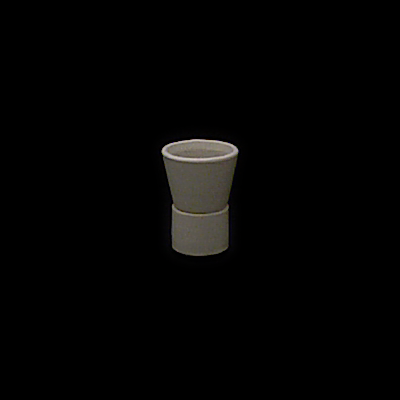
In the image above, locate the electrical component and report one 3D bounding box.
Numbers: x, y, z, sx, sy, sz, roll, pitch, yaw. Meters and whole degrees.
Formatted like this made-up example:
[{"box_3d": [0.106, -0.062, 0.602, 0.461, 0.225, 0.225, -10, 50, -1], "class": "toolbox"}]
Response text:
[{"box_3d": [0.000, 0.000, 0.639, 0.044, 0.066, 0.044, 0, 21, 0], "class": "electrical component"}]
